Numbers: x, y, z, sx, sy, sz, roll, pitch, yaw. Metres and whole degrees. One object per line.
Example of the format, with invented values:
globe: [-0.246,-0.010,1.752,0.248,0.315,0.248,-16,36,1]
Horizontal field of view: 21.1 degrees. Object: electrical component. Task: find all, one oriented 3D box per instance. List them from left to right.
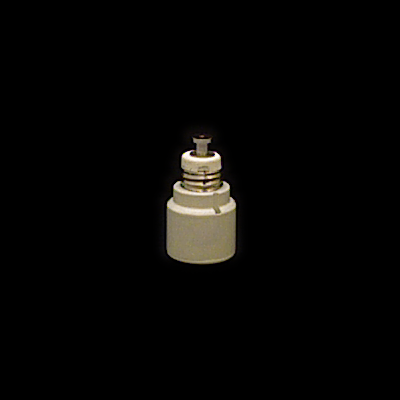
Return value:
electrical component: [0.000,0.000,0.634,0.040,0.079,0.039,0,21,0]
